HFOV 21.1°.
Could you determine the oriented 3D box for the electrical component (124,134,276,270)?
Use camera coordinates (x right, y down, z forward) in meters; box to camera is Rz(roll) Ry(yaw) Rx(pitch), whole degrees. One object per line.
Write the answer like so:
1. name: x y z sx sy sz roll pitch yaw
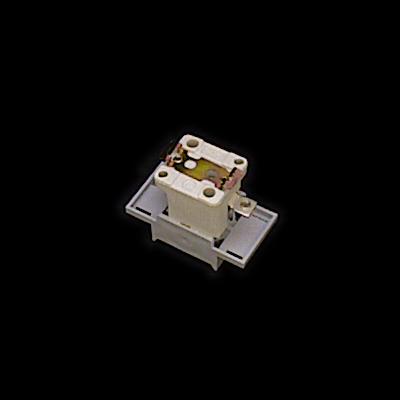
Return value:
1. electrical component: 0.000 0.000 0.627 0.080 0.042 0.064 25 -34 17
